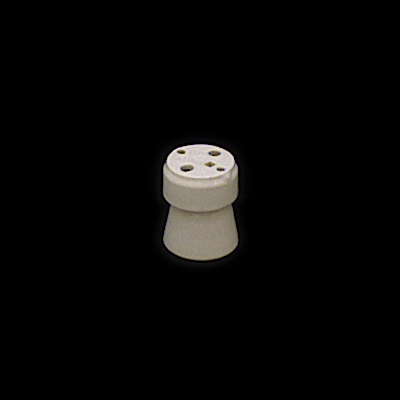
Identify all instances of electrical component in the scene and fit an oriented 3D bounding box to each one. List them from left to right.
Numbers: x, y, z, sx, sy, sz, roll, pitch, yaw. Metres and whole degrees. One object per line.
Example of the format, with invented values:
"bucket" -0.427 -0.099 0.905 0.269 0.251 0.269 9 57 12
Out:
"electrical component" 0.000 0.000 0.634 0.045 0.056 0.044 0 32 0
